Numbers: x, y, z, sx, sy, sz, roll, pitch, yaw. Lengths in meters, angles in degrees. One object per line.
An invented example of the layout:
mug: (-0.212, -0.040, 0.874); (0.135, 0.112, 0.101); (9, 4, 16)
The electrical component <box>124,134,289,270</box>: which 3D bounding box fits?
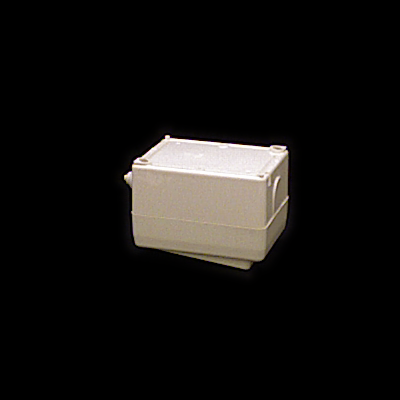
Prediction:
electrical component: (0.000, 0.000, 0.642); (0.096, 0.061, 0.061); (6, 21, 16)
